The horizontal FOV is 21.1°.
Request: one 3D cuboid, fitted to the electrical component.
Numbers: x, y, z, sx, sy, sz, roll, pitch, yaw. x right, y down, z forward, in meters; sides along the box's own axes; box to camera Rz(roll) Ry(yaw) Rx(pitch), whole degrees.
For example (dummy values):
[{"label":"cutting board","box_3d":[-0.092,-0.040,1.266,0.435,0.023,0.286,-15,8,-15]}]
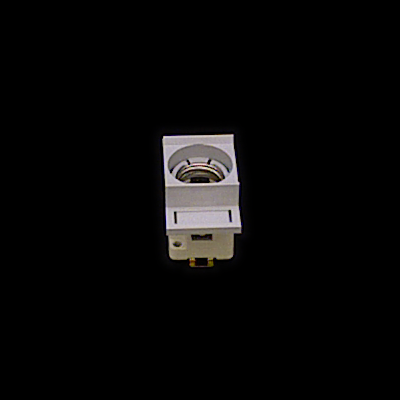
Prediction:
[{"label":"electrical component","box_3d":[0.000,0.000,0.631,0.042,0.064,0.080,-2,42,-2]}]
